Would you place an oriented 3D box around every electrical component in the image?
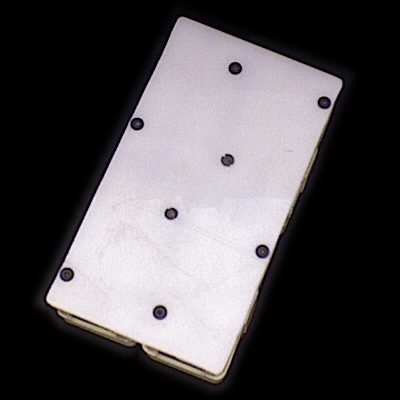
[{"bbox_3d":[0.000,0.000,0.625,0.105,0.187,0.060,22,-16,6],"label":"electrical component"}]
